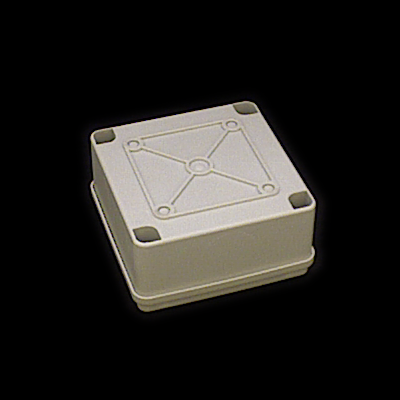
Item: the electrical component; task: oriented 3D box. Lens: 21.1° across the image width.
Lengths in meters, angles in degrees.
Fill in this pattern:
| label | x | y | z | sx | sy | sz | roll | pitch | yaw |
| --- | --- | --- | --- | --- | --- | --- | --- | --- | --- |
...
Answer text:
| label | x | y | z | sx | sy | sz | roll | pitch | yaw |
| --- | --- | --- | --- | --- | --- | --- | --- | --- | --- |
| electrical component | 0.000 | 0.000 | 0.629 | 0.109 | 0.056 | 0.107 | -13 | 44 | -14 |
